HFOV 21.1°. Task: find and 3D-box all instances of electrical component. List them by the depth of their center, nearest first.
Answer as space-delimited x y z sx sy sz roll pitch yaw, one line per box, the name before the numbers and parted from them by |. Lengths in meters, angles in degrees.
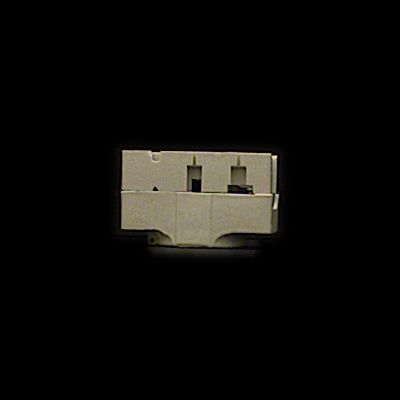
electrical component | 0.000 0.000 0.656 0.089 0.056 0.050 1 2 9
